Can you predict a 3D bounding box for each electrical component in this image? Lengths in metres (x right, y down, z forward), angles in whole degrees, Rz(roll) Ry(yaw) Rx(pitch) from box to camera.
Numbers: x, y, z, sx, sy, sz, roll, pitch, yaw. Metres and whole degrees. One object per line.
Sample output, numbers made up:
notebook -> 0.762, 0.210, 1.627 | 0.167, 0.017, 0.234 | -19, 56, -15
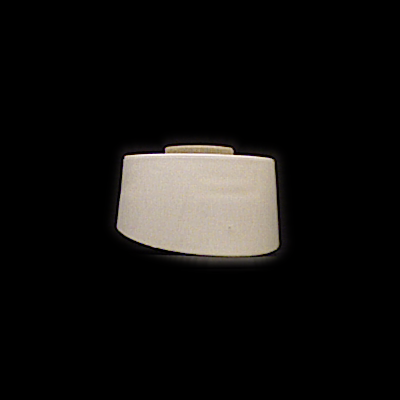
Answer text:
electrical component -> 0.000, 0.000, 0.649 | 0.099, 0.064, 0.099 | 1, 0, 0
